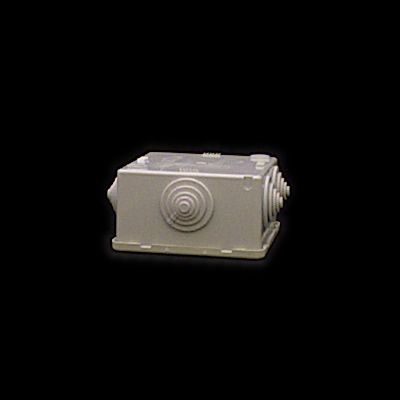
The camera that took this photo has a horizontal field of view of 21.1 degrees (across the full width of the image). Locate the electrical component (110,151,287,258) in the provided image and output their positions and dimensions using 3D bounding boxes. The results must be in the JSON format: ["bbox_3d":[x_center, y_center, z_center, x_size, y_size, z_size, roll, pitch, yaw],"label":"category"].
[{"bbox_3d":[0.000,0.000,0.644,0.099,0.049,0.099,3,11,10],"label":"electrical component"}]
